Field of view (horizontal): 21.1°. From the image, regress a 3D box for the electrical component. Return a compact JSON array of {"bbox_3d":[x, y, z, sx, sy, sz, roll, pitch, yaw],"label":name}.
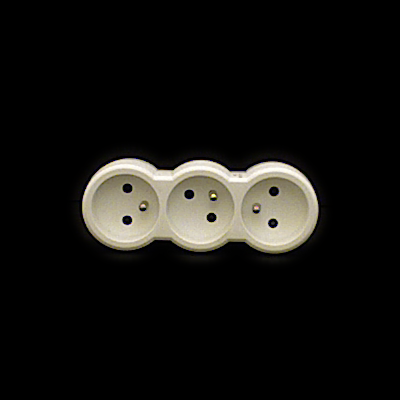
[{"bbox_3d":[0.000,0.000,0.655,0.138,0.052,0.073,1,10,0],"label":"electrical component"}]
